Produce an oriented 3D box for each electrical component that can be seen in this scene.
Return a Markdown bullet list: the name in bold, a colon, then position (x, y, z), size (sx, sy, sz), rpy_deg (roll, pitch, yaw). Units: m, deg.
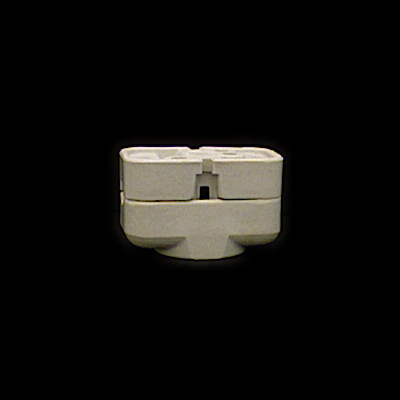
- **electrical component**: position (0.000, 0.000, 0.653), size (0.095, 0.060, 0.053), rpy_deg (-1, 12, -10)
